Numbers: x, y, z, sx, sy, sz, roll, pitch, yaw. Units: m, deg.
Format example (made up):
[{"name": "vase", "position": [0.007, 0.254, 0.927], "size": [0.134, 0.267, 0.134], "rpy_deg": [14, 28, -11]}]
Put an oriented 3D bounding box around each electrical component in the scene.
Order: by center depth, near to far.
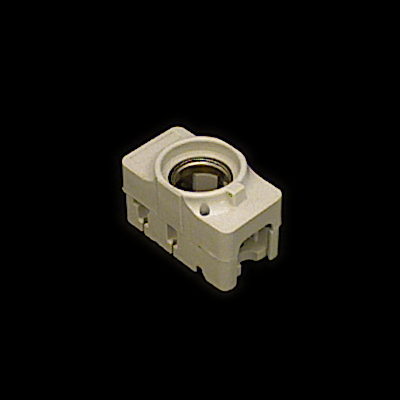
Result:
[{"name": "electrical component", "position": [0.000, 0.000, 0.639], "size": [0.088, 0.056, 0.050], "rpy_deg": [34, 52, 31]}]
